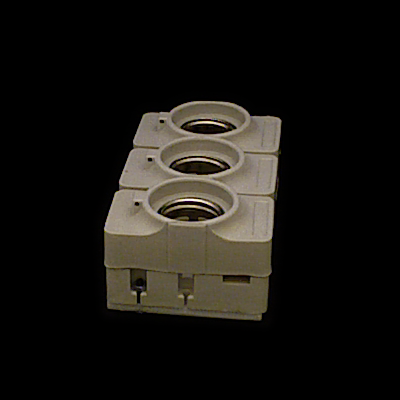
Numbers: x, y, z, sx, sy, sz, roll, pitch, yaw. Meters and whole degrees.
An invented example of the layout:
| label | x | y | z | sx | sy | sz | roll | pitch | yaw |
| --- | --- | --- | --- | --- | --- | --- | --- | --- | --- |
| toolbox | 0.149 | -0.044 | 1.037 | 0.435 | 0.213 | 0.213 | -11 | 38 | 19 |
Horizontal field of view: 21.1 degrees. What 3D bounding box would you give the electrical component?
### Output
| label | x | y | z | sx | sy | sz | roll | pitch | yaw |
| --- | --- | --- | --- | --- | --- | --- | --- | --- | --- |
| electrical component | 0.000 | 0.000 | 0.640 | 0.089 | 0.063 | 0.147 | 3 | 30 | 5 |
